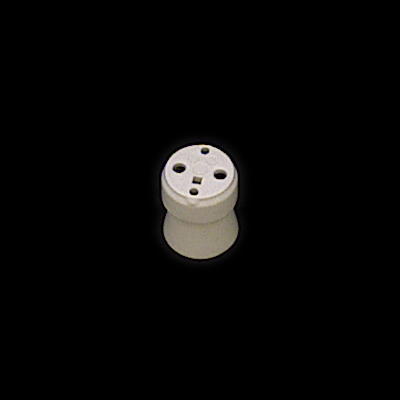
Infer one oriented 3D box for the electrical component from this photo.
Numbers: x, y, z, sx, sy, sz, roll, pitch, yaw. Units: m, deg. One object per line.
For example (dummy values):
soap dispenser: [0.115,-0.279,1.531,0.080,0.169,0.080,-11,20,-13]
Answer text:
electrical component: [0.000,0.000,0.630,0.045,0.044,0.055,0,-38,0]
